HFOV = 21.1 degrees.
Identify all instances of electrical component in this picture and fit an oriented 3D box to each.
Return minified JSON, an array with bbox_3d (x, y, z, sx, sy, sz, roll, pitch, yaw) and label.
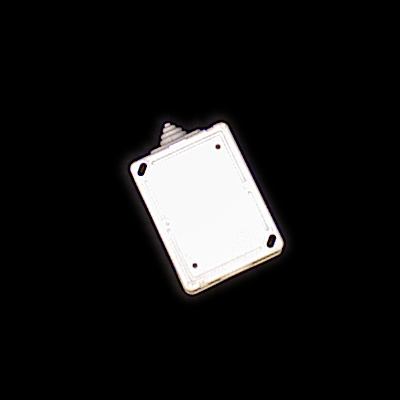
[{"bbox_3d":[0.000,0.000,0.629,0.062,0.096,0.061,-25,-7,-2],"label":"electrical component"}]
